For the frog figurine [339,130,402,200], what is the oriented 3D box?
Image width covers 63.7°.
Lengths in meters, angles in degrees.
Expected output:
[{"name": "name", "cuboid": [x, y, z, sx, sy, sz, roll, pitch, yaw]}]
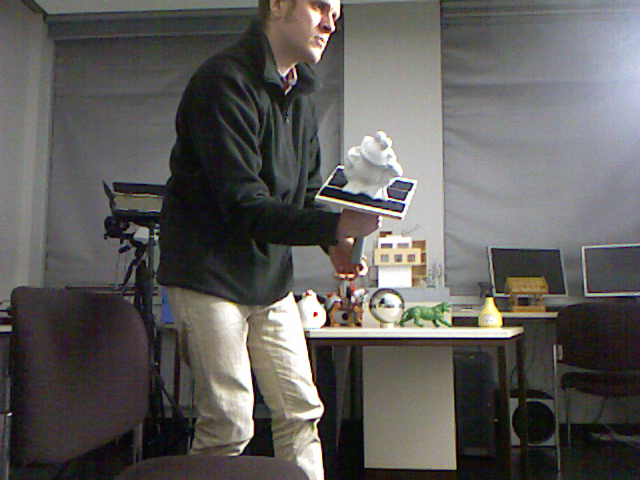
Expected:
[{"name": "frog figurine", "cuboid": [0.117, -0.181, 1.166, 0.139, 0.156, 0.125, 24, 36, 24]}]
